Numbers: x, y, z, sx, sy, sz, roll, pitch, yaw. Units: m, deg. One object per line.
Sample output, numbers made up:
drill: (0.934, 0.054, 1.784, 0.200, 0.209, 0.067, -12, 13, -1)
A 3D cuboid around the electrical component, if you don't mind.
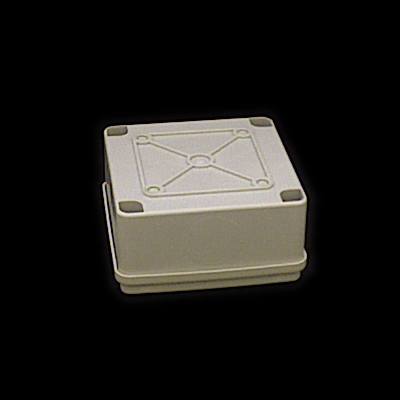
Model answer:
electrical component: (0.000, 0.000, 0.632, 0.109, 0.057, 0.107, -4, 32, -8)
